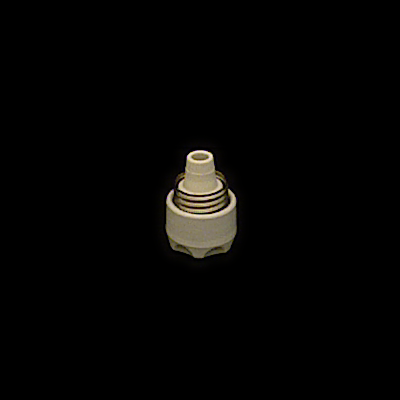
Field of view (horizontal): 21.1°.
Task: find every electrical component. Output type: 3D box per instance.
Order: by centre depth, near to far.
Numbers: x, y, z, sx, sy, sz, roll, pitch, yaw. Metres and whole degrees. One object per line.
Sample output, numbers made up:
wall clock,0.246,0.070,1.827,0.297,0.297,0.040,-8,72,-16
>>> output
electrical component,0.000,0.000,0.642,0.043,0.063,0.043,0,31,1
